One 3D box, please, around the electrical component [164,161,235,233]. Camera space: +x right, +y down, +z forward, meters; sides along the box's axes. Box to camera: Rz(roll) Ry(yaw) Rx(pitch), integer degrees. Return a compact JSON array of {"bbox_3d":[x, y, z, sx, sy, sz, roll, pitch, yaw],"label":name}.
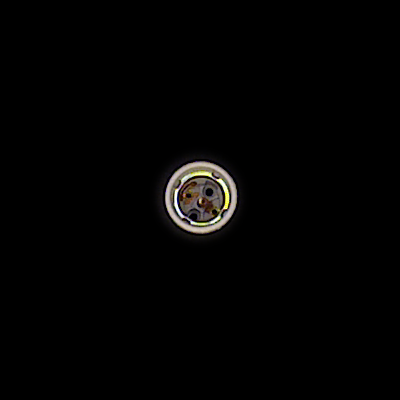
[{"bbox_3d":[0.000,0.000,0.628,0.040,0.040,0.046,0,-7,0],"label":"electrical component"}]
